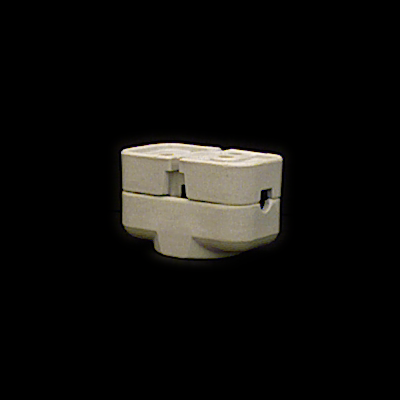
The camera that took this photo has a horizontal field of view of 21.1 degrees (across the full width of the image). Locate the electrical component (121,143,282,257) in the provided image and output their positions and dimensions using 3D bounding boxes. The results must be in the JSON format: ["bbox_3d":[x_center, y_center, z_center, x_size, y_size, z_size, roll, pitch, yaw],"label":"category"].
[{"bbox_3d":[0.000,0.000,0.654,0.094,0.060,0.054,8,13,34],"label":"electrical component"}]
